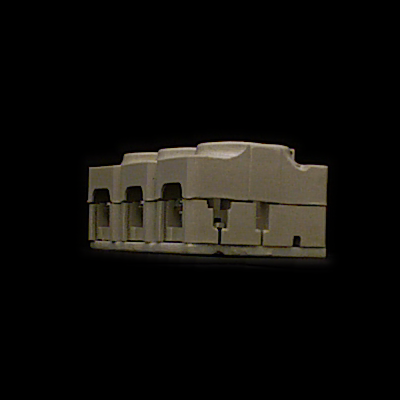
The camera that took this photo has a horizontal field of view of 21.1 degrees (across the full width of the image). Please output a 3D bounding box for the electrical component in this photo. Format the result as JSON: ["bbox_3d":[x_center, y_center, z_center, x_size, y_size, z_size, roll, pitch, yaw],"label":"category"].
[{"bbox_3d":[0.000,0.000,0.658,0.090,0.062,0.150,2,0,-28],"label":"electrical component"}]
